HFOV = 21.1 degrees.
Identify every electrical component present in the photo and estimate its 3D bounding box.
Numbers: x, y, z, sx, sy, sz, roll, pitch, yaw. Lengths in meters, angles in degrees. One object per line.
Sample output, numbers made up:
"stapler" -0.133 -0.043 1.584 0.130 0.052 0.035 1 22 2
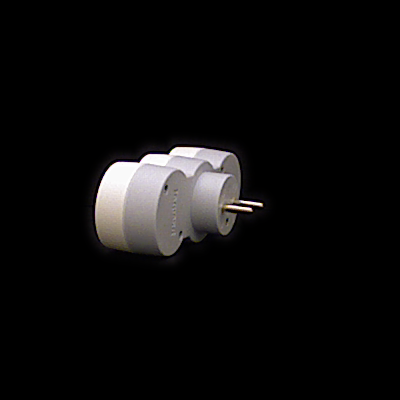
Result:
"electrical component" 0.000 0.000 0.648 0.073 0.052 0.137 7 11 21
